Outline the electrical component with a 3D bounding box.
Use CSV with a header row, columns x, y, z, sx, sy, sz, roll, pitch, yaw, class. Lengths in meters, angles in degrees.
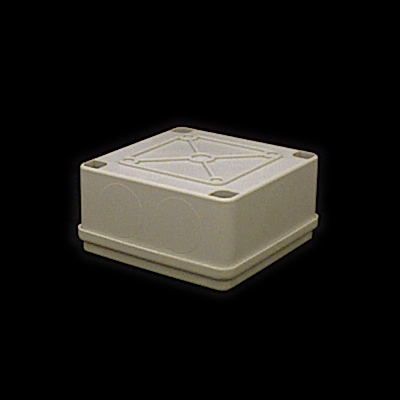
x,y,z,sx,sy,sz,roll,pitch,yaw,class
0.000,0.000,0.641,0.108,0.057,0.108,14,24,31,electrical component
